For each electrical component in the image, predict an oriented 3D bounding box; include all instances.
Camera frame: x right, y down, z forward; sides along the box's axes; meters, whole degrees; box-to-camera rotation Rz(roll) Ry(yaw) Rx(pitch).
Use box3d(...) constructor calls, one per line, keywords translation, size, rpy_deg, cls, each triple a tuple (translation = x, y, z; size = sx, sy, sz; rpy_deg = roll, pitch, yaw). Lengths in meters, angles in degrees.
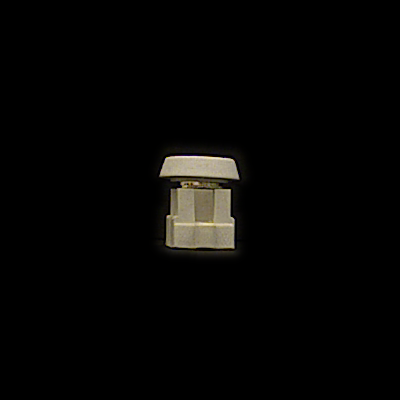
box3d(translation=(0.000, 0.000, 0.657), size=(0.048, 0.055, 0.066), rpy_deg=(3, 1, -10), cls="electrical component")
